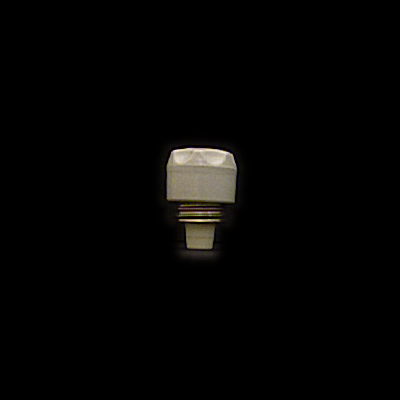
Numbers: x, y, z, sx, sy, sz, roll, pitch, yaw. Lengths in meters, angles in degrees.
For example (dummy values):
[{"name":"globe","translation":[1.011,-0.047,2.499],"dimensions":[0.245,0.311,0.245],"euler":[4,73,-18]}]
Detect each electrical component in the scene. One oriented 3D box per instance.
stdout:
[{"name":"electrical component","translation":[0.000,0.000,0.658],"dimensions":[0.043,0.062,0.043],"euler":[2,1,0]}]
